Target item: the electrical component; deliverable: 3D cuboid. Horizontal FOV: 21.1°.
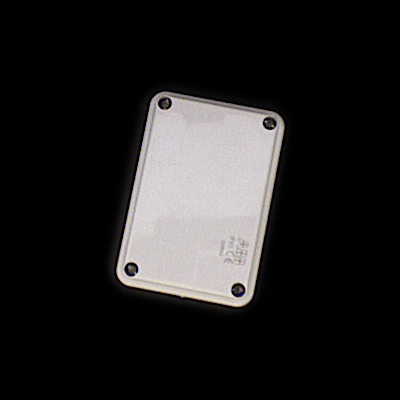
[{"bbox_3d":[0.000,0.000,0.627,0.078,0.113,0.057,11,-7,2],"label":"electrical component"}]
